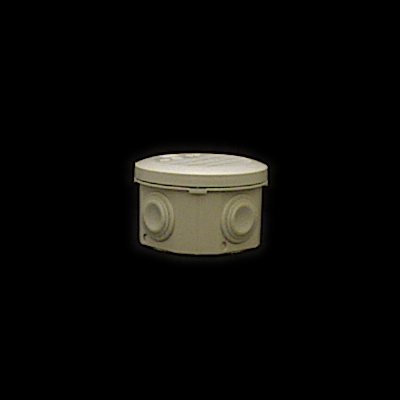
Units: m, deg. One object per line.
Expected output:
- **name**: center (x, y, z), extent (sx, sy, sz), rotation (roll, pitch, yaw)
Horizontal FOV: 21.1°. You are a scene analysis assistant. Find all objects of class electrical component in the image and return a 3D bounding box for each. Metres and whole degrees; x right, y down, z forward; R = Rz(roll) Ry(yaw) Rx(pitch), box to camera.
- **electrical component**: center (0.000, 0.000, 0.647), extent (0.080, 0.051, 0.079), rotation (1, 10, 0)
